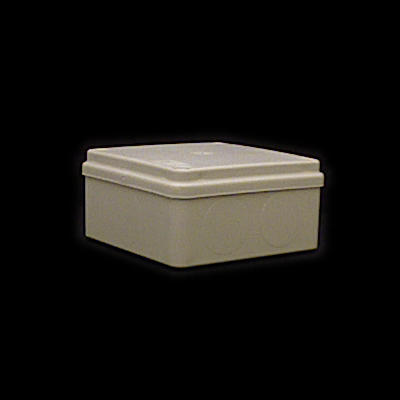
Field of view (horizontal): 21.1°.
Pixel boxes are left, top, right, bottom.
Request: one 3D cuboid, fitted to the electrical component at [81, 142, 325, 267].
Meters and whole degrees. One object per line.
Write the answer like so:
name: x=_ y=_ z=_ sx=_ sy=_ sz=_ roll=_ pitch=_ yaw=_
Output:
electrical component: x=0.000 y=0.000 z=0.647 sx=0.109 sy=0.056 sz=0.108 roll=-5 pitch=12 yaw=-35
